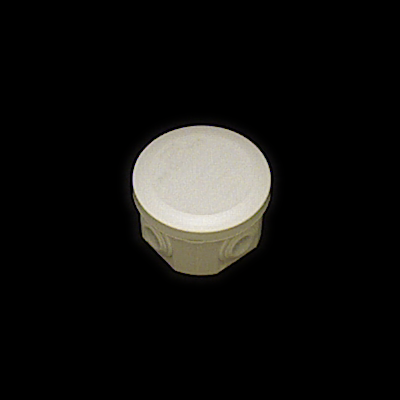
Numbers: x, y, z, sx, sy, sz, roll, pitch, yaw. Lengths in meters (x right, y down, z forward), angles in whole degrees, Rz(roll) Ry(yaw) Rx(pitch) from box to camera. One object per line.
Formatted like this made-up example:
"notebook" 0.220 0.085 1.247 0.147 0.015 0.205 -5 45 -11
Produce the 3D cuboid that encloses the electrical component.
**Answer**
"electrical component" 0.000 0.000 0.633 0.080 0.080 0.051 0 -38 -1
